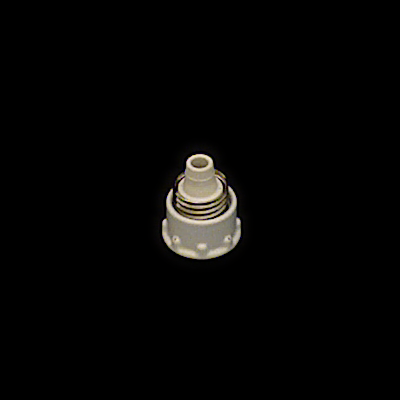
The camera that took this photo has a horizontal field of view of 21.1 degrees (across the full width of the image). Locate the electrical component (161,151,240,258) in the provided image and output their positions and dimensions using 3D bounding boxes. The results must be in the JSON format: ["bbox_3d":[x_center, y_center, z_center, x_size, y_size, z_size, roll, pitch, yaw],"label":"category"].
[{"bbox_3d":[0.000,0.000,0.636,0.048,0.062,0.047,0,42,1],"label":"electrical component"}]
